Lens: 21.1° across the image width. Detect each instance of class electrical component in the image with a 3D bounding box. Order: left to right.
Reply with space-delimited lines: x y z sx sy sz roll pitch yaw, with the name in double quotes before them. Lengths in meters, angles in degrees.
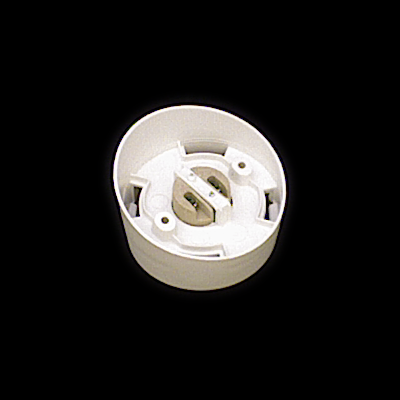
"electrical component" 0.000 0.000 0.626 0.099 0.098 0.064 0 -38 1
